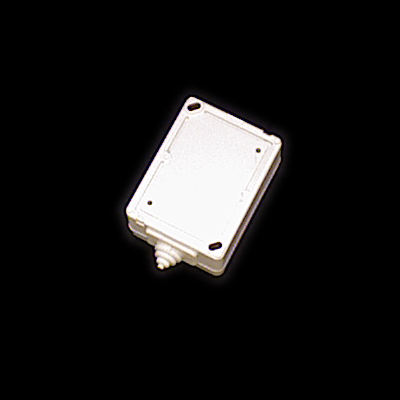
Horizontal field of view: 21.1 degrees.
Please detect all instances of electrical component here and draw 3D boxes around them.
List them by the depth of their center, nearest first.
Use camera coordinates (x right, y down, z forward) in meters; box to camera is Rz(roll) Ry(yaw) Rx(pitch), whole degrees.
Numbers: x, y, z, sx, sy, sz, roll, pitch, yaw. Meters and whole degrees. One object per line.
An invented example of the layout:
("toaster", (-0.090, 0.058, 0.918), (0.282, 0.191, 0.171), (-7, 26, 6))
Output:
("electrical component", (0.000, 0.000, 0.628), (0.062, 0.097, 0.060), (26, -15, 8))
